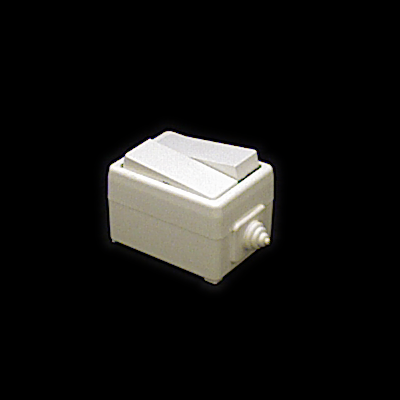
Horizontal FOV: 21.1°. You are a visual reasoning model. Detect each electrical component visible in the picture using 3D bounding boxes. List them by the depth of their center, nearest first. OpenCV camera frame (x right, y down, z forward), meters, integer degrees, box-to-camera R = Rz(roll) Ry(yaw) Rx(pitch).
[{"bbox_3d":[0.000,0.000,0.633,0.096,0.061,0.061,21,36,29],"label":"electrical component"}]
